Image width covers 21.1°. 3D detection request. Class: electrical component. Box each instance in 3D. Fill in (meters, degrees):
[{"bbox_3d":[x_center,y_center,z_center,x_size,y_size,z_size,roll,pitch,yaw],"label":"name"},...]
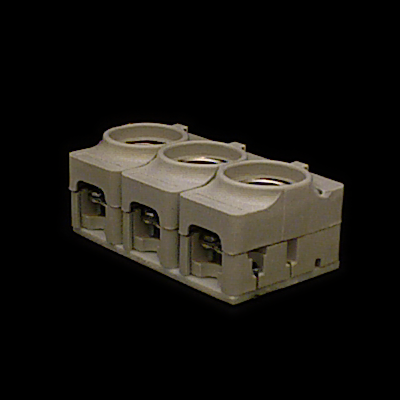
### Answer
[{"bbox_3d":[0.000,0.000,0.646,0.089,0.063,0.148,-17,27,-41],"label":"electrical component"}]
